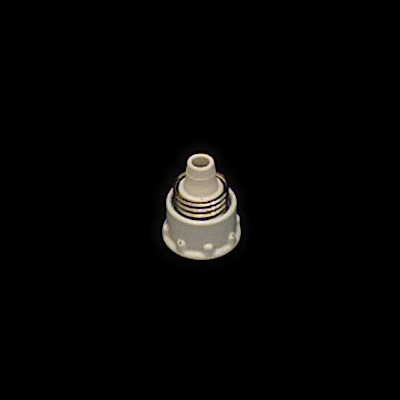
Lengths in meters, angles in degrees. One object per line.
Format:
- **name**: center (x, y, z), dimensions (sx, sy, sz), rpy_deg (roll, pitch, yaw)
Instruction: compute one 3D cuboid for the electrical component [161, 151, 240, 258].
- **electrical component**: center (0.000, 0.000, 0.638), dimensions (0.048, 0.062, 0.047), rpy_deg (0, 41, 0)
